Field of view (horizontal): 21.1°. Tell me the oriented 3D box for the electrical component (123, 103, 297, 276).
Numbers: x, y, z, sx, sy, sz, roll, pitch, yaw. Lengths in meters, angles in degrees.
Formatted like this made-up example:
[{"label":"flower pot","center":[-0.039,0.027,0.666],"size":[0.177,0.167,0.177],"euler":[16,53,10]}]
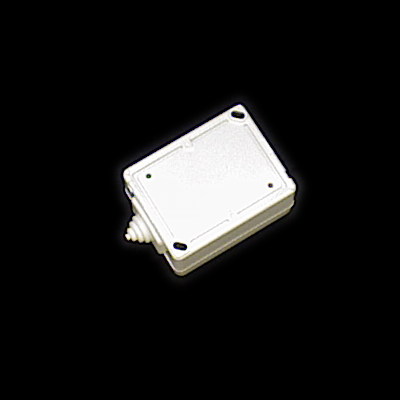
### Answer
[{"label":"electrical component","center":[0.000,0.000,0.624],"size":[0.096,0.062,0.060],"euler":[-31,-14,-9]}]
